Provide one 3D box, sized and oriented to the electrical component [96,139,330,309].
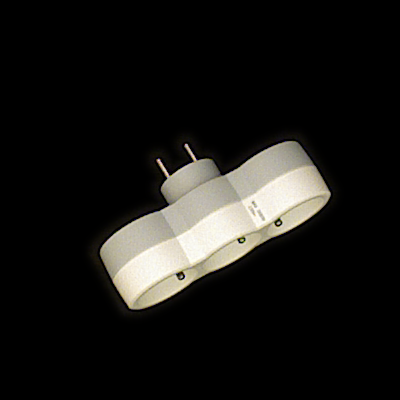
[{"bbox_3d":[0.000,0.000,0.639,0.139,0.073,0.052,-28,-16,-8],"label":"electrical component"}]
